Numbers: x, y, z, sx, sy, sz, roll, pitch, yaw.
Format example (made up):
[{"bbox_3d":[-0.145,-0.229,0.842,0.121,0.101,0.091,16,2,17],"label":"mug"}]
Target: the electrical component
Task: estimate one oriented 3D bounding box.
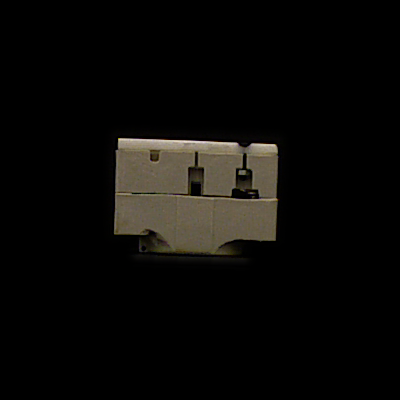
[{"bbox_3d":[0.000,0.000,0.659,0.089,0.062,0.150,2,-1,2],"label":"electrical component"}]
